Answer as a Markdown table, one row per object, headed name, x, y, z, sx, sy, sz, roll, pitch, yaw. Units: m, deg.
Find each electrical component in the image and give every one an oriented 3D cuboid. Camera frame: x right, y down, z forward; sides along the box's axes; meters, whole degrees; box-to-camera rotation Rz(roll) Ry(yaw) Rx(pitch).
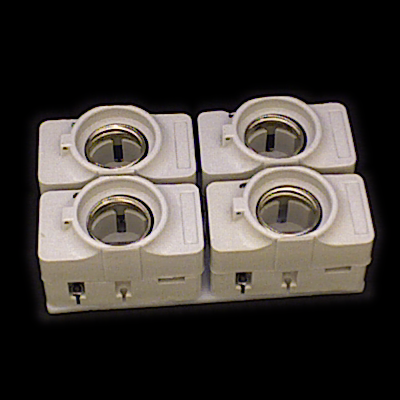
| name | x | y | z | sx | sy | sz | roll | pitch | yaw |
| --- | --- | --- | --- | --- | --- | --- | --- | --- | --- |
| electrical component | 0.000 | 0.000 | 0.627 | 0.186 | 0.105 | 0.060 | -4 | -37 | -3 |
